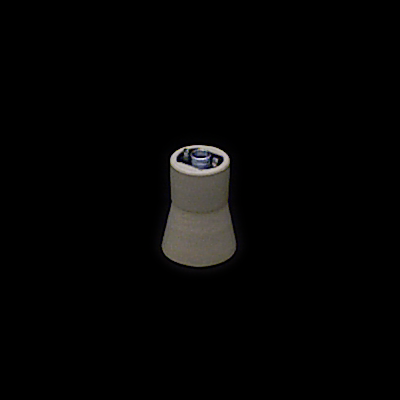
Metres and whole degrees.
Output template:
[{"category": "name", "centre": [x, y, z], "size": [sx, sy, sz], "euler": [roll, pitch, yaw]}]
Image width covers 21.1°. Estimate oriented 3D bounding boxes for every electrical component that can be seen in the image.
[{"category": "electrical component", "centre": [0.000, 0.000, 0.632], "size": [0.044, 0.066, 0.044], "euler": [0, 33, 0]}]
